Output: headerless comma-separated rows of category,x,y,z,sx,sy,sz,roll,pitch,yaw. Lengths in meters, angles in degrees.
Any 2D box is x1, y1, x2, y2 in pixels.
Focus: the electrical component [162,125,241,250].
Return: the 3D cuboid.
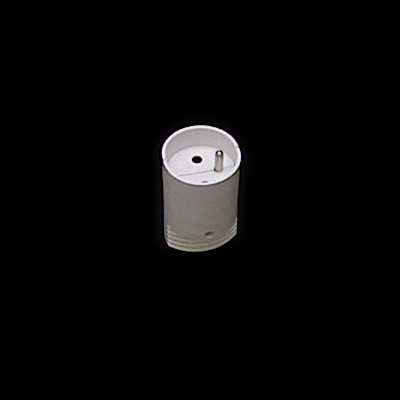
electrical component,0.000,0.000,0.621,0.043,0.043,0.081,0,-38,-1
